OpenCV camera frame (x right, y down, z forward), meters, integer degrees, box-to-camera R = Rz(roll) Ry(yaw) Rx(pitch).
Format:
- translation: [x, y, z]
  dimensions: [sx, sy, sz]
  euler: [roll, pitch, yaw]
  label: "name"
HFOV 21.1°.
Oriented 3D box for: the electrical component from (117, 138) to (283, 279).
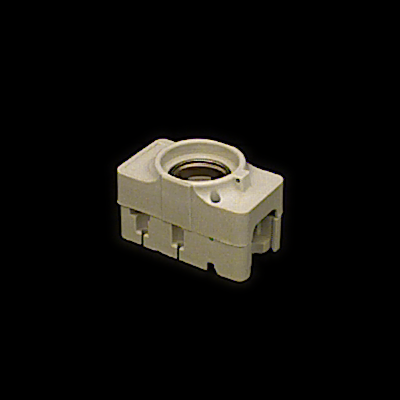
- translation: [0.000, 0.000, 0.642]
  dimensions: [0.088, 0.056, 0.050]
  euler: [19, 36, 26]
  label: "electrical component"
